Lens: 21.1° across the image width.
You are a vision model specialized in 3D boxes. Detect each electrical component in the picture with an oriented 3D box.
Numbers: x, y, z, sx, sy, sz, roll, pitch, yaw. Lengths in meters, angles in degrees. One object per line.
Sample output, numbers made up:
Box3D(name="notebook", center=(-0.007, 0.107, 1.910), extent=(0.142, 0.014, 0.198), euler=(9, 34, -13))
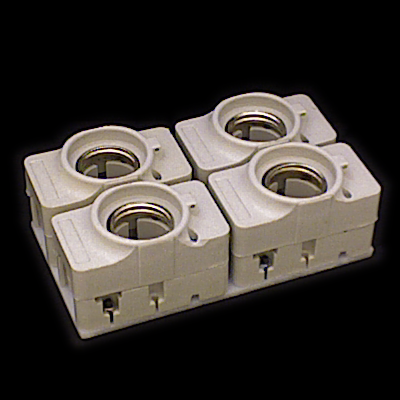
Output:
Box3D(name="electrical component", center=(0.000, 0.000, 0.631), extent=(0.186, 0.061, 0.104), euler=(-14, 44, -17))
